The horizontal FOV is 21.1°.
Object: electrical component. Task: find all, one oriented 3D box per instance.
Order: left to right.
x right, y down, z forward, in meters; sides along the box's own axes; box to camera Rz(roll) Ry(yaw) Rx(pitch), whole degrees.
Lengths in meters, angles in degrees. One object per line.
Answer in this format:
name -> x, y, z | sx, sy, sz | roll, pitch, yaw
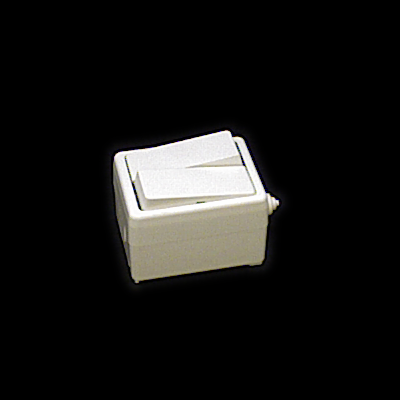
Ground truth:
electrical component -> 0.000, 0.000, 0.631 | 0.096, 0.061, 0.061 | -8, 42, -10
